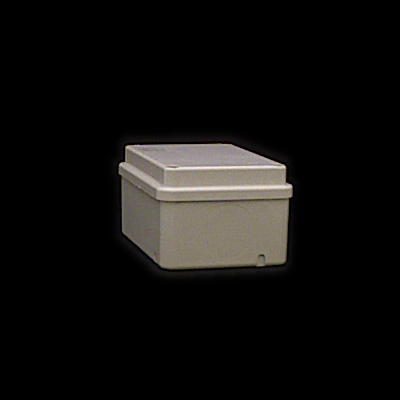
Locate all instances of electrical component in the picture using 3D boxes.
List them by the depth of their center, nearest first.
[{"bbox_3d":[0.000,0.000,0.643,0.078,0.057,0.112,-2,11,-17],"label":"electrical component"}]
